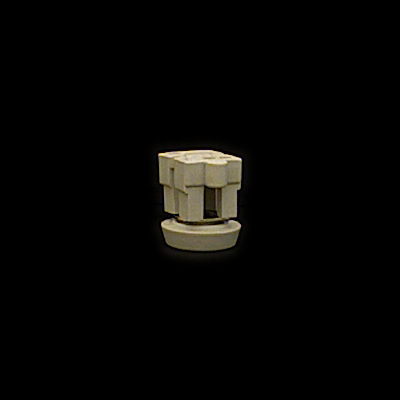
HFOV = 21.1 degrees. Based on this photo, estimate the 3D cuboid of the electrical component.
[{"bbox_3d":[0.000,0.000,0.651,0.049,0.056,0.065,-6,13,-24],"label":"electrical component"}]
